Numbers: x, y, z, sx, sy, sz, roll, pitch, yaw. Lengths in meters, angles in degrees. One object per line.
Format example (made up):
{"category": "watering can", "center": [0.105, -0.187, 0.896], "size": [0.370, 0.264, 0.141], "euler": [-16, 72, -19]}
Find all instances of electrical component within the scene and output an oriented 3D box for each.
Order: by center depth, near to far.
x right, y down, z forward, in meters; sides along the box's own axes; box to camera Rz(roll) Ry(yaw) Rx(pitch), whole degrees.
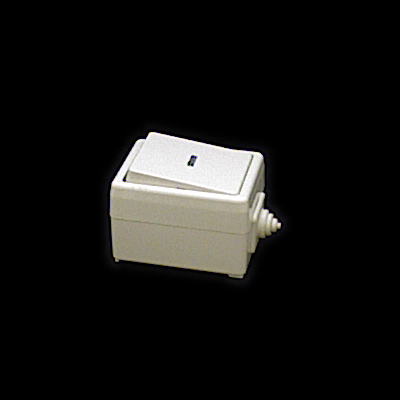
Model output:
{"category": "electrical component", "center": [0.000, 0.000, 0.634], "size": [0.096, 0.061, 0.061], "euler": [7, 32, 10]}
